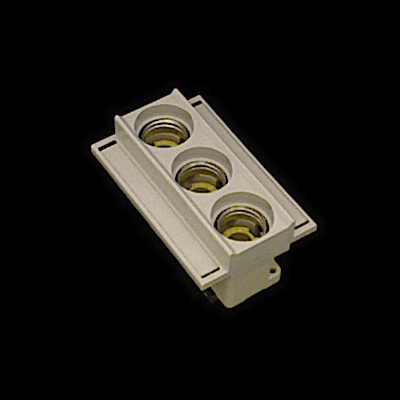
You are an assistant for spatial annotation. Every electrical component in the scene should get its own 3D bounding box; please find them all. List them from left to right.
[{"bbox_3d":[0.000,0.000,0.640,0.079,0.120,0.063,-27,-32,-20],"label":"electrical component"}]
